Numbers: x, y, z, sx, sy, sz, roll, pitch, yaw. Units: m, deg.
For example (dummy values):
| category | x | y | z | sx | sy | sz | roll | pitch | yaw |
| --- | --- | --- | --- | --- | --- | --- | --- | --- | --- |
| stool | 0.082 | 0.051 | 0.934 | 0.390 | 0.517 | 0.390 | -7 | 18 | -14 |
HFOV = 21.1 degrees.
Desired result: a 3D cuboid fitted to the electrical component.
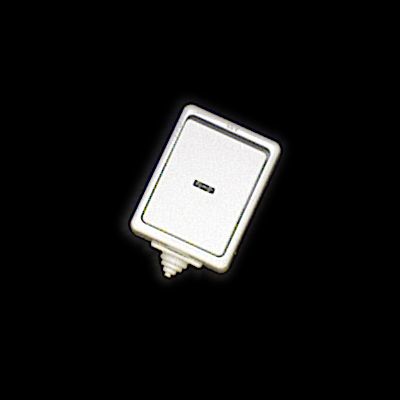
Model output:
| category | x | y | z | sx | sy | sz | roll | pitch | yaw |
| --- | --- | --- | --- | --- | --- | --- | --- | --- | --- |
| electrical component | 0.000 | 0.000 | 0.626 | 0.062 | 0.096 | 0.061 | 24 | -6 | 3 |
